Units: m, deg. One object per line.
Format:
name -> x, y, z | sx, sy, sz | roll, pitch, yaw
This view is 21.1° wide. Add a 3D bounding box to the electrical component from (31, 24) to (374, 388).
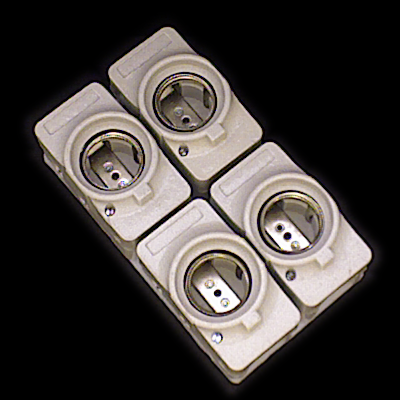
electrical component -> 0.000, 0.000, 0.625 | 0.106, 0.186, 0.060 | -38, -13, -11
